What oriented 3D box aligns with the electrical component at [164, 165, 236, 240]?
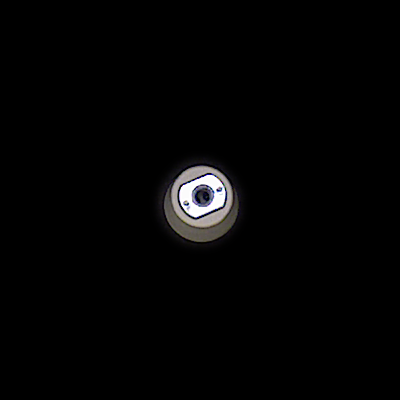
[{"bbox_3d":[0.000,0.000,0.625,0.044,0.044,0.065,0,-5,0],"label":"electrical component"}]
